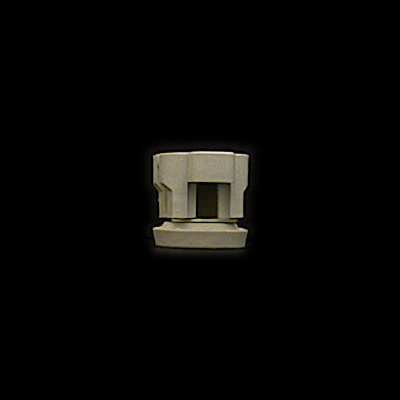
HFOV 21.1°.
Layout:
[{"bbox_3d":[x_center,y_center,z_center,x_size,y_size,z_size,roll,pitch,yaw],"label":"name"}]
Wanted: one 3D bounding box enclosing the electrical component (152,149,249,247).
[{"bbox_3d":[0.000,0.000,0.657,0.058,0.057,0.078,0,0,-15],"label":"electrical component"}]
